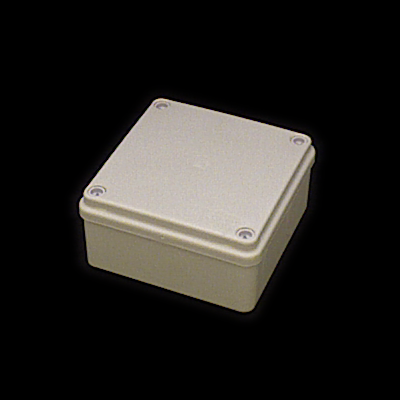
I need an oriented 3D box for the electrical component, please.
[{"bbox_3d":[0.000,0.000,0.634,0.108,0.057,0.108,16,44,16],"label":"electrical component"}]
